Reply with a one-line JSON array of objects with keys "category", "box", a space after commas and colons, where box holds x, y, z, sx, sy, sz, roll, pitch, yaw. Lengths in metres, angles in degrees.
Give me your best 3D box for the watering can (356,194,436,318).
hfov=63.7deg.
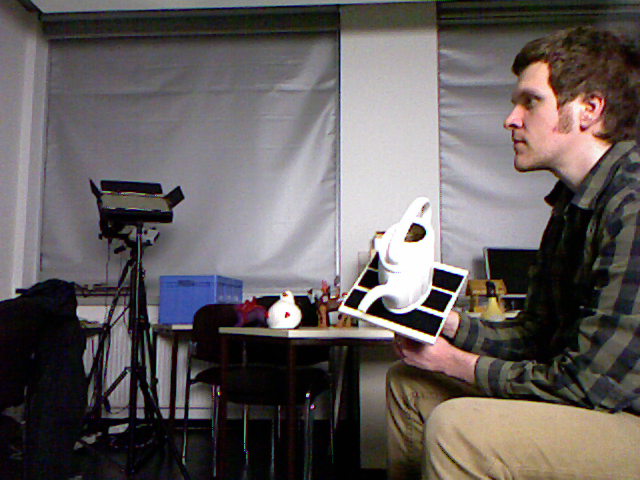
[{"category": "watering can", "box": [0.150, 0.064, 0.983, 0.105, 0.219, 0.356, 16, 48, 24]}]
